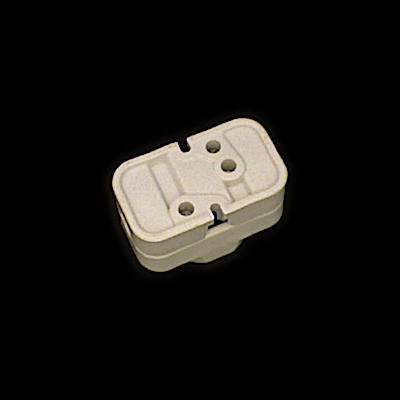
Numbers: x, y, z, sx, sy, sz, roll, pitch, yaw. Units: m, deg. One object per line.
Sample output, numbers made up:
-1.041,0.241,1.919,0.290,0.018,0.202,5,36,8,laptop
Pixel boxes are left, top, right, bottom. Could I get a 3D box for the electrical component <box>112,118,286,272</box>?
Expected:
0.000,0.000,0.635,0.095,0.053,0.059,-22,-25,-10,electrical component
